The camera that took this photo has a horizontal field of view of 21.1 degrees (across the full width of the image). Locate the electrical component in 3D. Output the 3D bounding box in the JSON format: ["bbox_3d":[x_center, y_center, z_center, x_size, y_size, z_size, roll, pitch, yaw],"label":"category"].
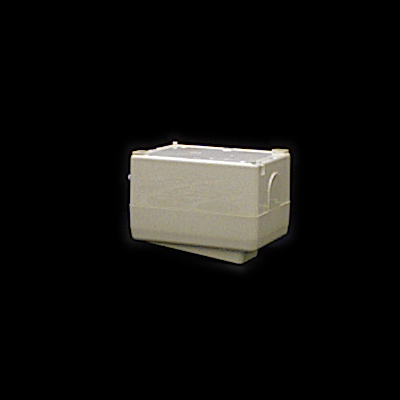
[{"bbox_3d":[0.000,0.000,0.645,0.095,0.061,0.061,6,12,22],"label":"electrical component"}]
